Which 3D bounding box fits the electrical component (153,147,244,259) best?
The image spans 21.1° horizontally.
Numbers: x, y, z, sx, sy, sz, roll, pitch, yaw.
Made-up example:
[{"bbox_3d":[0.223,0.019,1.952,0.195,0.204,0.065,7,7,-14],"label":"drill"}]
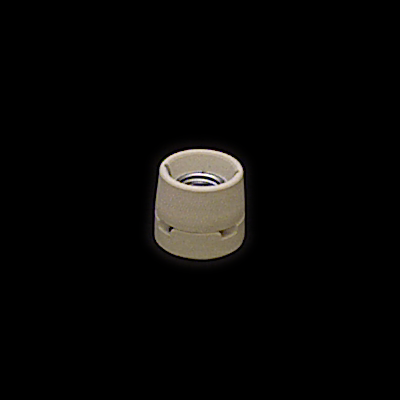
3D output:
[{"bbox_3d":[0.000,0.000,0.638,0.055,0.047,0.055,2,32,-1],"label":"electrical component"}]
